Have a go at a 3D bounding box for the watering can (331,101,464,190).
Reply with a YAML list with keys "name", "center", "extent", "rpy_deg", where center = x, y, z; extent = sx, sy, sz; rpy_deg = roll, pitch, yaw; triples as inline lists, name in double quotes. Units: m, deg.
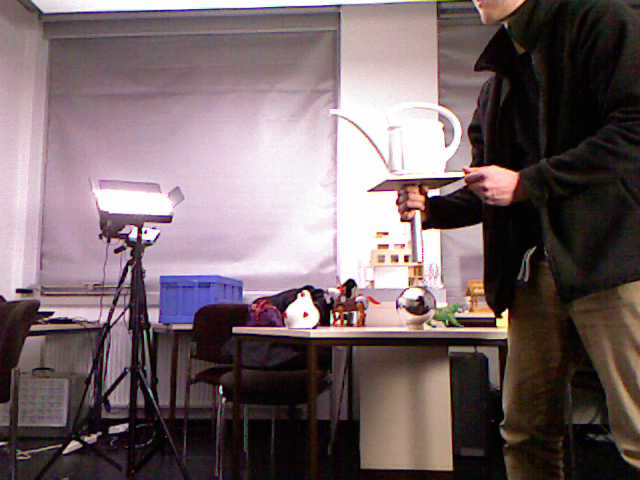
- name: "watering can"
  center: [0.201, -0.239, 1.311]
  extent: [0.348, 0.224, 0.104]
  rpy_deg: [-3, 3, -10]
